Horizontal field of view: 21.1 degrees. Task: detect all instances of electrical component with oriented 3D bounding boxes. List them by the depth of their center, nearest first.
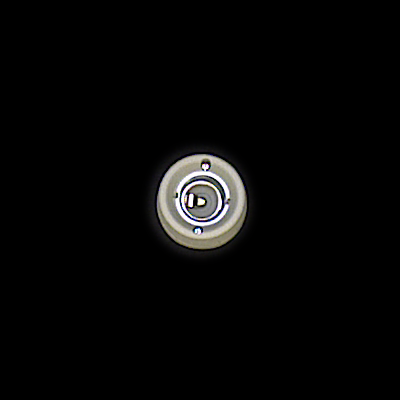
[{"bbox_3d":[0.000,0.000,0.634,0.055,0.055,0.047,0,-8,0],"label":"electrical component"}]
